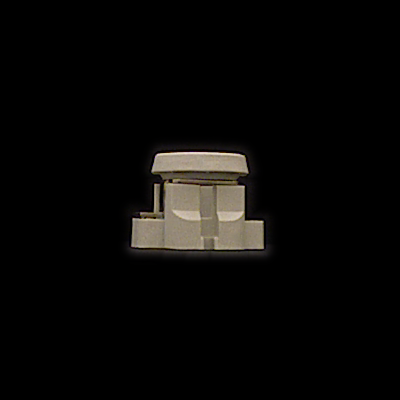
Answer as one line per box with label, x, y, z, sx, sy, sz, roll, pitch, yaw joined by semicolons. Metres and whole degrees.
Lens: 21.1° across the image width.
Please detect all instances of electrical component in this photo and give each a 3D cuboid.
electrical component;0.000;0.000;0.648;0.079;0.057;0.057;1;1;-15
